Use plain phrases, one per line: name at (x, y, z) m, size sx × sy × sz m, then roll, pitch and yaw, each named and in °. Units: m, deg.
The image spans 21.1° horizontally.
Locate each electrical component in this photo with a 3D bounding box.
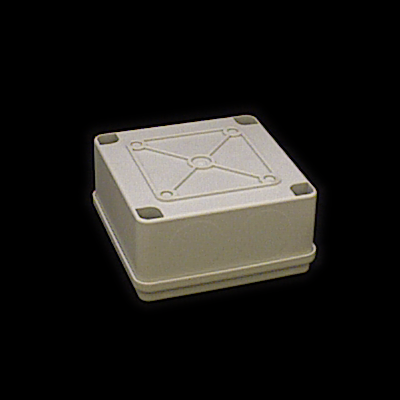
electrical component at (0.000, 0.000, 0.635) m, size 0.109 × 0.057 × 0.107 m, roll -9°, pitch 34°, yaw -17°
